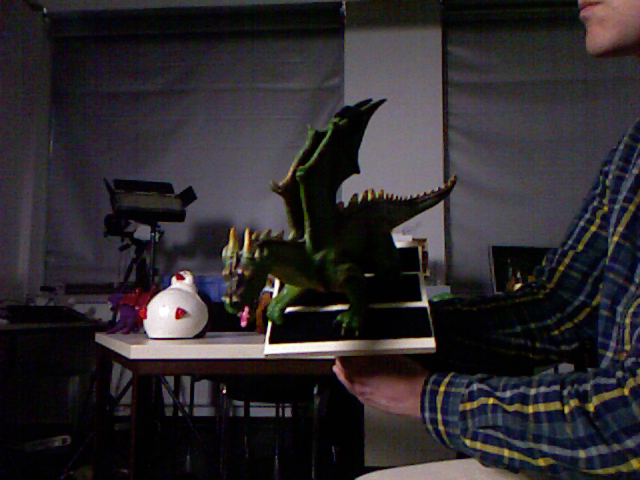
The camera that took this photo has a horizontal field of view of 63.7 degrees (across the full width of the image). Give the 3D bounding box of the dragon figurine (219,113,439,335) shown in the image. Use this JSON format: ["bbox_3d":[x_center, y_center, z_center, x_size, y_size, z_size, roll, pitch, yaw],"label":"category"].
[{"bbox_3d":[0.034,-0.034,0.606,0.123,0.237,0.418,25,51,29],"label":"dragon figurine"}]
